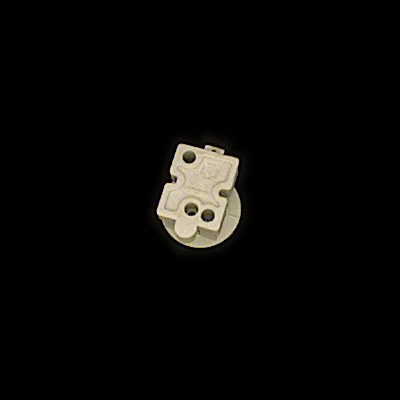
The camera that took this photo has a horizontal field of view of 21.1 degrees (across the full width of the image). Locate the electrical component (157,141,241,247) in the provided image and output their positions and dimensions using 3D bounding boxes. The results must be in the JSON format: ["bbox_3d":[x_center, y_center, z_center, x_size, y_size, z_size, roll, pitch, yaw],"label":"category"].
[{"bbox_3d":[0.000,0.000,0.637,0.048,0.067,0.055,16,-16,6],"label":"electrical component"}]
